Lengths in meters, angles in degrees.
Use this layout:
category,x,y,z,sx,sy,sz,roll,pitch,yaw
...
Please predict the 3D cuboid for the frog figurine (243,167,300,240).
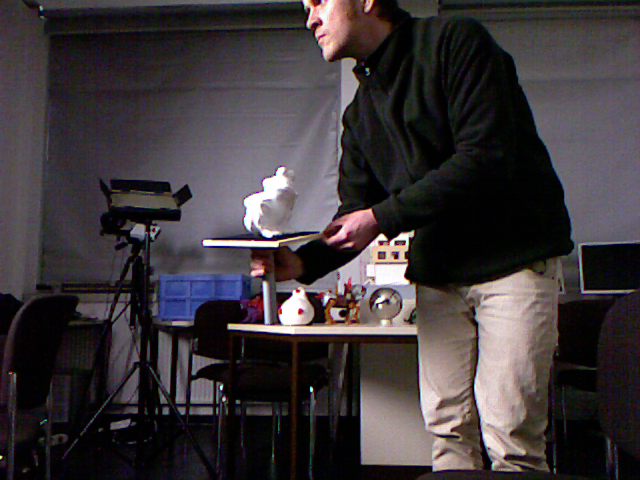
category,x,y,z,sx,sy,sz,roll,pitch,yaw
frog figurine,-0.111,-0.086,1.175,0.138,0.159,0.123,-6,9,-37
